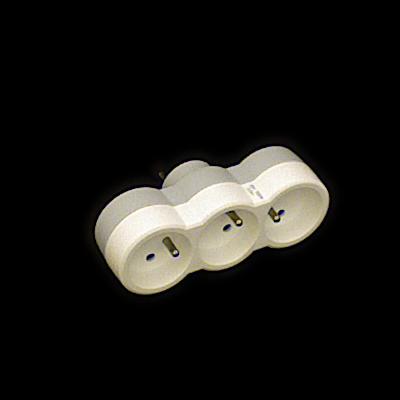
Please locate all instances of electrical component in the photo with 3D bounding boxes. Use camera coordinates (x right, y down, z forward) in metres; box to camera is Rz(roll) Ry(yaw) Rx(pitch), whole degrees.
[{"bbox_3d":[0.000,0.000,0.643,0.139,0.053,0.072,-18,44,-20],"label":"electrical component"}]
